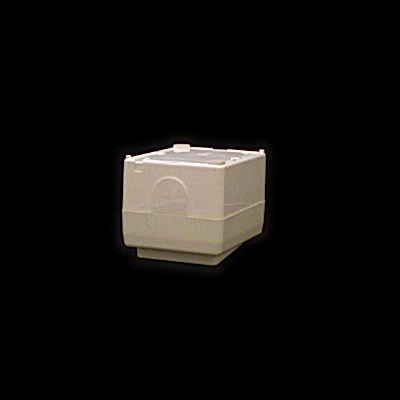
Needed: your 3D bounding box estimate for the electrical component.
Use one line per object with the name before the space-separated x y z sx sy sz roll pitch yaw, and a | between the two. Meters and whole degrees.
electrical component | 0.000 0.000 0.645 0.061 0.061 0.095 5 10 21
